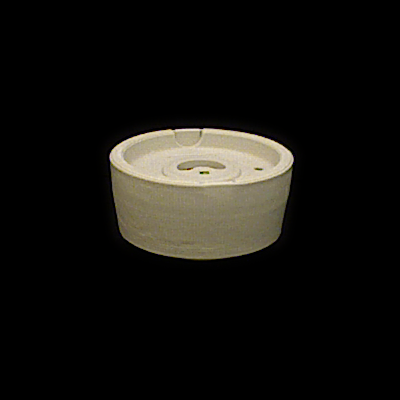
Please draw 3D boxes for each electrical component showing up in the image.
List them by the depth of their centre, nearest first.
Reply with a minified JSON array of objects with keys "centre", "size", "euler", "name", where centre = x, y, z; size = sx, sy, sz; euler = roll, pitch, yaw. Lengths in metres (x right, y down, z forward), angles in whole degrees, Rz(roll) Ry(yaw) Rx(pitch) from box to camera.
[{"centre":[0.000,0.000,0.643],"size":[0.108,0.061,0.106],"euler":[1,21,0],"name":"electrical component"}]
